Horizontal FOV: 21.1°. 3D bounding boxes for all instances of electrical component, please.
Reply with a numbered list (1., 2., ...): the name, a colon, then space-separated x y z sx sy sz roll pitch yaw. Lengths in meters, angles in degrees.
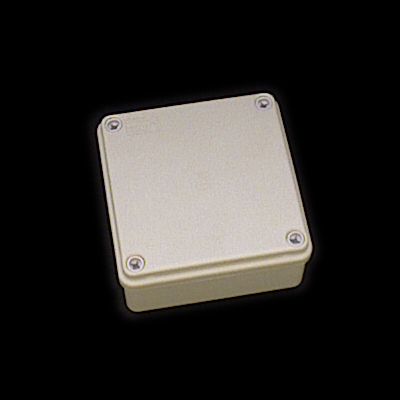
1. electrical component: 0.000 0.000 0.628 0.109 0.109 0.056 -9 -26 -5
